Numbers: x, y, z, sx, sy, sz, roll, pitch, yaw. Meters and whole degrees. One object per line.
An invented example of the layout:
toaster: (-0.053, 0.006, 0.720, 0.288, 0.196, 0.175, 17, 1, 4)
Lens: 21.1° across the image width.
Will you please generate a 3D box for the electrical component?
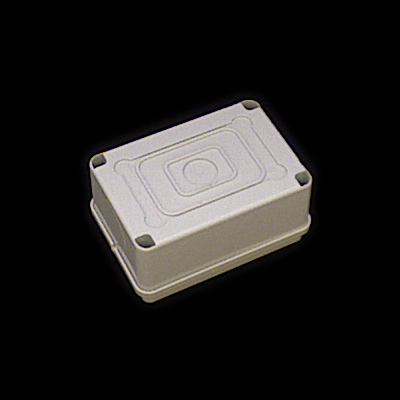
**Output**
electrical component: (0.000, 0.000, 0.629, 0.113, 0.078, 0.057, -22, -34, -16)
